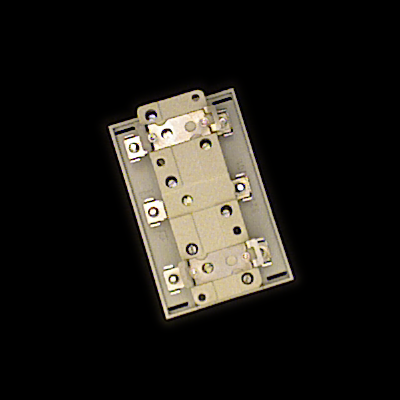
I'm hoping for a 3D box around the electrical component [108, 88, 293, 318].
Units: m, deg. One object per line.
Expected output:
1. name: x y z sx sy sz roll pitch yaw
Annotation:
1. electrical component: 0.000 0.000 0.635 0.079 0.121 0.063 -17 -6 -2
